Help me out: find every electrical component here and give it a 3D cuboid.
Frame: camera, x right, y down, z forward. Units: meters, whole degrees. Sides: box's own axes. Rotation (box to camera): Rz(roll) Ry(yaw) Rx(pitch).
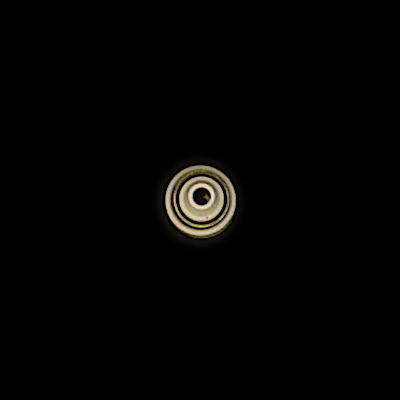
[{"bbox_3d":[0.000,0.000,0.635,0.043,0.043,0.062,0,-5,0],"label":"electrical component"}]
